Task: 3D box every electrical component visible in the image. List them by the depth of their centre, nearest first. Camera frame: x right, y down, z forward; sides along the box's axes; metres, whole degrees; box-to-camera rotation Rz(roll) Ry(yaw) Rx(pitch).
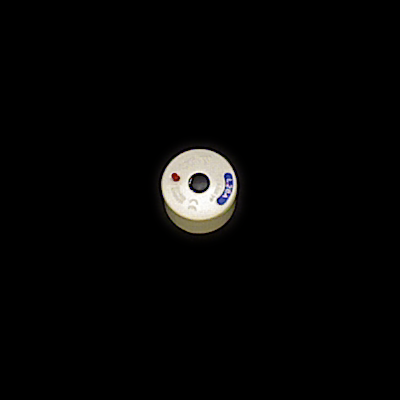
[{"bbox_3d":[0.000,0.000,0.617,0.040,0.040,0.078,0,-17,1],"label":"electrical component"}]
